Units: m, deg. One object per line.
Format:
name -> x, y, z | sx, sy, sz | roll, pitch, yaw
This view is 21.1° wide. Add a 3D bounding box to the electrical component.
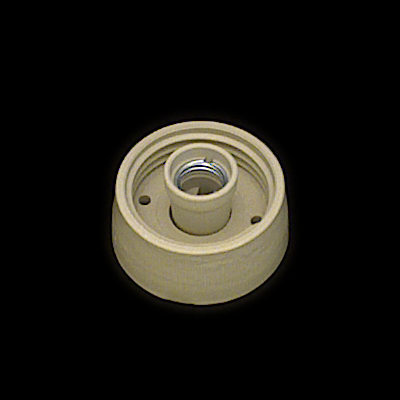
electrical component -> 0.000, 0.000, 0.634 | 0.108, 0.107, 0.060 | 0, -37, -1
